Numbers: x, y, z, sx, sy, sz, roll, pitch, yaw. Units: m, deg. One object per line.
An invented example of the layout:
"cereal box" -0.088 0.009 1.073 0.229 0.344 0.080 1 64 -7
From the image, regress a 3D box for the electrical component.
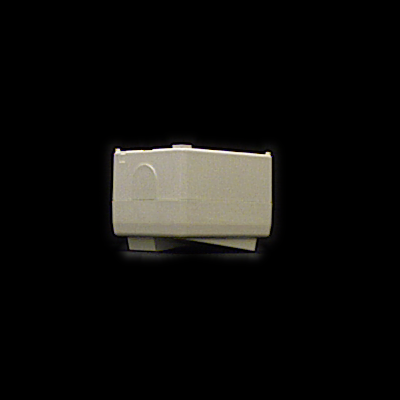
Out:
"electrical component" 0.001 0.000 0.657 0.062 0.061 0.096 1 0 45
